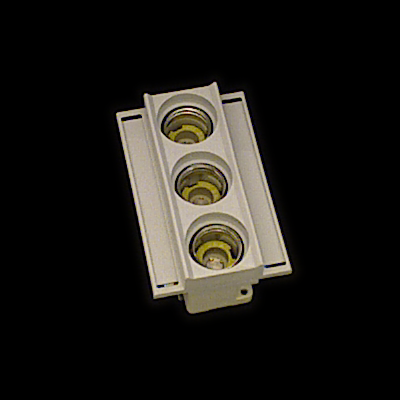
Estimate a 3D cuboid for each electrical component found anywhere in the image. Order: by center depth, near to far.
[{"bbox_3d":[0.000,0.000,0.638,0.079,0.121,0.063,-10,-26,-6],"label":"electrical component"}]
